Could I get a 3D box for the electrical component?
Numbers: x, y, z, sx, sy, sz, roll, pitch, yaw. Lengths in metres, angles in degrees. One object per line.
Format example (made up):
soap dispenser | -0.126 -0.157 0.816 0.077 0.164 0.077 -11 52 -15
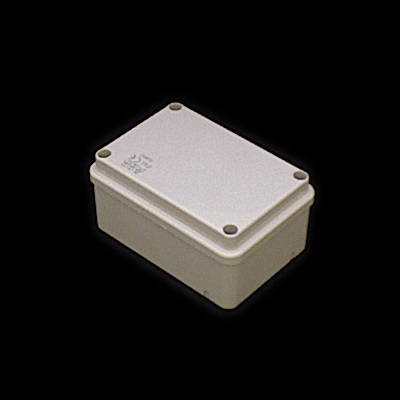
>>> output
electrical component | 0.000 0.000 0.629 0.112 0.057 0.078 31 50 29
